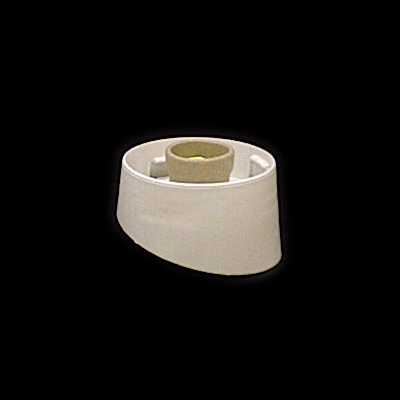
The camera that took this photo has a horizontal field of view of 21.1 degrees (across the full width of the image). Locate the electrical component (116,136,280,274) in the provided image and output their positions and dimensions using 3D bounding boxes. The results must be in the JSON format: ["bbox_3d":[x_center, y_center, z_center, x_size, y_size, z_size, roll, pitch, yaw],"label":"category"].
[{"bbox_3d":[0.000,0.000,0.638,0.099,0.065,0.097,2,21,0],"label":"electrical component"}]
